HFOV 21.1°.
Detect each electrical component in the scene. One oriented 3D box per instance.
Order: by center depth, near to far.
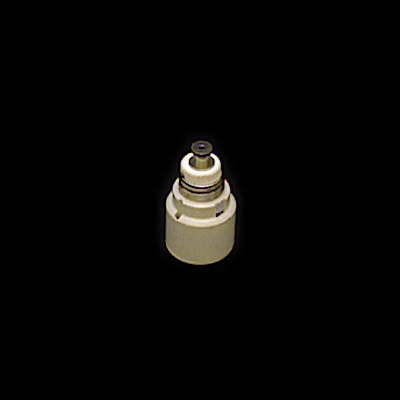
[{"bbox_3d":[0.000,0.000,0.624,0.040,0.079,0.039,1,41,0],"label":"electrical component"}]
